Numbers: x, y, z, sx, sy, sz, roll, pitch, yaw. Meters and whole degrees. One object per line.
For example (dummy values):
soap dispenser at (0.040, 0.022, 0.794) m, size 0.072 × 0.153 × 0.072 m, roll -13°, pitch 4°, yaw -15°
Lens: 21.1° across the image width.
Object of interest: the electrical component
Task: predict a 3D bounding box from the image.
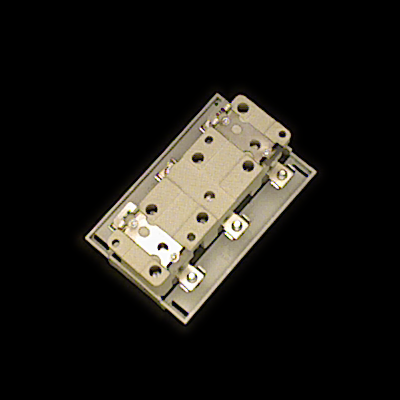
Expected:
electrical component at (0.000, 0.000, 0.634) m, size 0.078 × 0.122 × 0.062 m, roll 39°, pitch -12°, yaw 11°
